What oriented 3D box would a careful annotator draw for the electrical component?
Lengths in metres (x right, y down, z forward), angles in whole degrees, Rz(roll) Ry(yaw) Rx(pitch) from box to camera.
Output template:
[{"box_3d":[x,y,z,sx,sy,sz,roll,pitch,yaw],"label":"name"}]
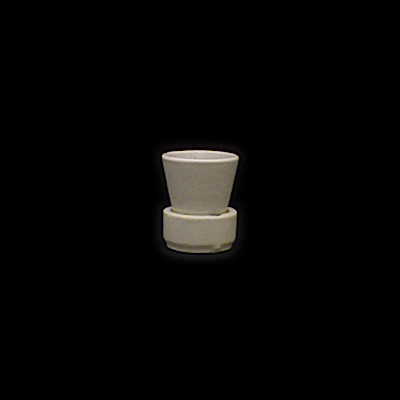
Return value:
[{"box_3d":[0.000,0.000,0.642,0.045,0.055,0.044,0,11,0],"label":"electrical component"}]
